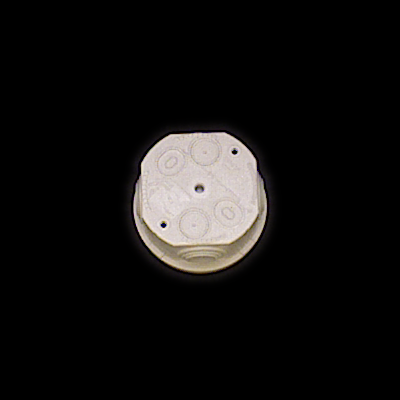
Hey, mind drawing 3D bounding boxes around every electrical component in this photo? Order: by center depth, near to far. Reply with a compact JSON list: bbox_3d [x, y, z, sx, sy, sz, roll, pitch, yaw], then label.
[{"bbox_3d":[0.000,0.000,0.631,0.080,0.080,0.050,0,-16,0],"label":"electrical component"}]
